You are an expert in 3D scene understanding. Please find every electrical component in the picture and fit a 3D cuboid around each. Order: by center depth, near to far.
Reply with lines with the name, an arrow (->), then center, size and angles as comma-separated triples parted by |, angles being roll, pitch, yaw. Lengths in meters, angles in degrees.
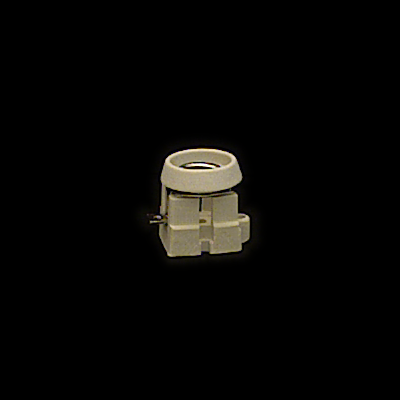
electrical component -> 0.000, 0.000, 0.645 | 0.067, 0.056, 0.047 | -5, 21, -14
